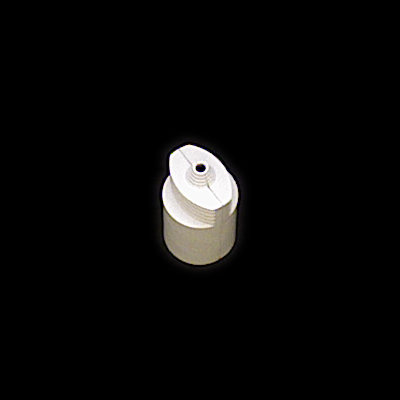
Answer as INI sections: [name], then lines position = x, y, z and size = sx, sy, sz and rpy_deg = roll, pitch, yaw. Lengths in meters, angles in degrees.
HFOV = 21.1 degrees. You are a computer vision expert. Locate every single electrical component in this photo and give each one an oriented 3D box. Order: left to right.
[electrical component]
position = 0.000, 0.000, 0.617
size = 0.043, 0.043, 0.081
rpy_deg = 0, -27, 0
